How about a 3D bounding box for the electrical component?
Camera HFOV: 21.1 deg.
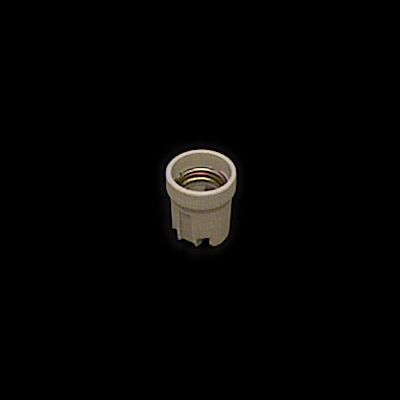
[{"bbox_3d":[0.000,0.000,0.631,0.040,0.047,0.039,1,42,0],"label":"electrical component"}]
